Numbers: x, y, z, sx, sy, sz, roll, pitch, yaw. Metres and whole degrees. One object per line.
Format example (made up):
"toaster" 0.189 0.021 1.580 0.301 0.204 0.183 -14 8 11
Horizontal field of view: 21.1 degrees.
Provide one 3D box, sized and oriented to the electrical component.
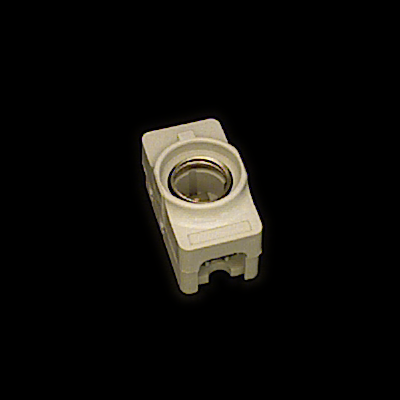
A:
"electrical component" 0.000 0.000 0.637 0.050 0.089 0.056 -14 -35 -11
